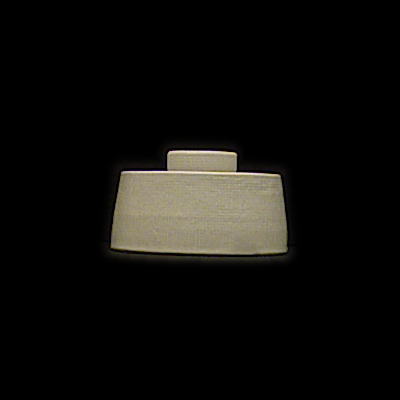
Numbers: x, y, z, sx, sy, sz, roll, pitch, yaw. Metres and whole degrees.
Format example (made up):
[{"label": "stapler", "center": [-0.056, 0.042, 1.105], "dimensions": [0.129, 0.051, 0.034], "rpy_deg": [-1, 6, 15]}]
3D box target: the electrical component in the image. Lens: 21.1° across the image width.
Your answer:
[{"label": "electrical component", "center": [0.000, 0.000, 0.656], "dimensions": [0.108, 0.060, 0.108], "rpy_deg": [1, 1, 0]}]
